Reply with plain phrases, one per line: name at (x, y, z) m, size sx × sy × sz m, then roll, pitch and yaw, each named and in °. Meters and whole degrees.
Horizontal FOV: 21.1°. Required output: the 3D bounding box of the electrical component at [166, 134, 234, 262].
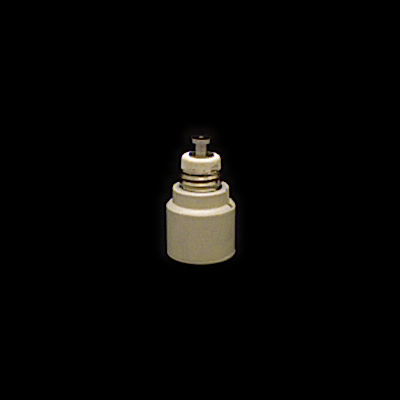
electrical component at (0.000, 0.000, 0.635) m, size 0.040 × 0.079 × 0.039 m, roll 0°, pitch 21°, yaw 0°
